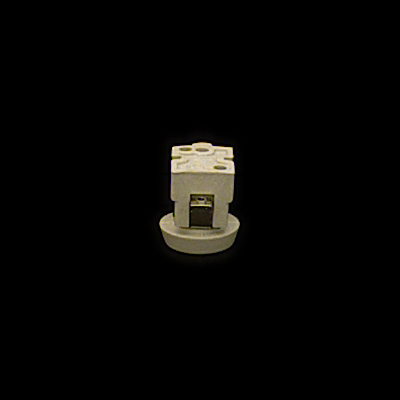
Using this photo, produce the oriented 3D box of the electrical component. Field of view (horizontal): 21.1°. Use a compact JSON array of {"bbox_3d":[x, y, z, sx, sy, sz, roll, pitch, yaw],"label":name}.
[{"bbox_3d":[0.000,0.000,0.648,0.048,0.056,0.065,2,23,-1],"label":"electrical component"}]
